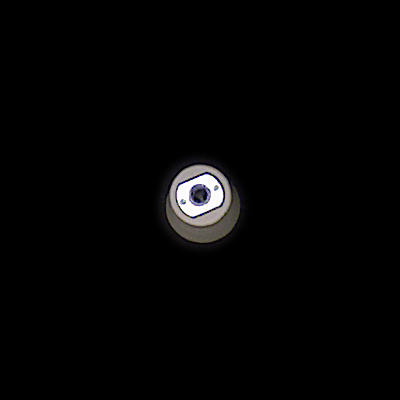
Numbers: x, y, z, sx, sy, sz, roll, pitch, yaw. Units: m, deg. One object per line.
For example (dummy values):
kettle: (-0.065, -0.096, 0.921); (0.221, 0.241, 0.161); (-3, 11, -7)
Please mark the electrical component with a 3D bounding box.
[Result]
electrical component: (0.000, 0.000, 0.626); (0.044, 0.044, 0.065); (0, -7, 1)
